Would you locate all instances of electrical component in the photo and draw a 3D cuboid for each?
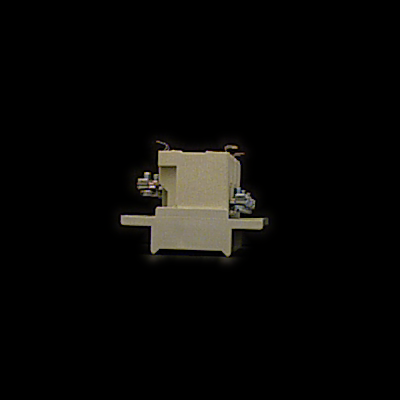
[{"bbox_3d":[0.000,0.000,0.658,0.078,0.063,0.121,2,1,5],"label":"electrical component"}]
